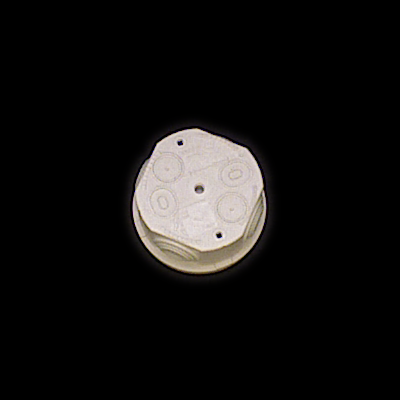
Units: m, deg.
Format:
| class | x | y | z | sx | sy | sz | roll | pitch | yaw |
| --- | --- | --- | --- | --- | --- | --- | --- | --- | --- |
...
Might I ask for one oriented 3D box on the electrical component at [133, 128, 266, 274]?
| class | x | y | z | sx | sy | sz | roll | pitch | yaw |
| --- | --- | --- | --- | --- | --- | --- | --- | --- | --- |
| electrical component | 0.000 | 0.000 | 0.632 | 0.080 | 0.080 | 0.050 | 0 | -16 | -1 |
